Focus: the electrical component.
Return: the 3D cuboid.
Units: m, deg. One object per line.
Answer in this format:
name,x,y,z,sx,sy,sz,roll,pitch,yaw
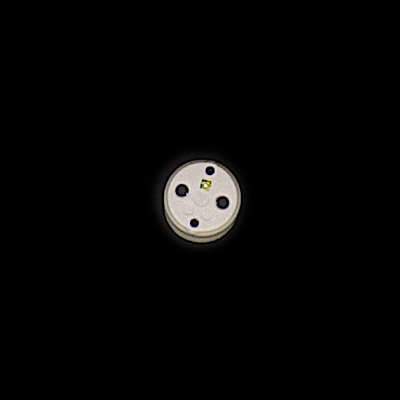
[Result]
electrical component,0.000,0.000,0.630,0.045,0.045,0.055,0,-6,0
